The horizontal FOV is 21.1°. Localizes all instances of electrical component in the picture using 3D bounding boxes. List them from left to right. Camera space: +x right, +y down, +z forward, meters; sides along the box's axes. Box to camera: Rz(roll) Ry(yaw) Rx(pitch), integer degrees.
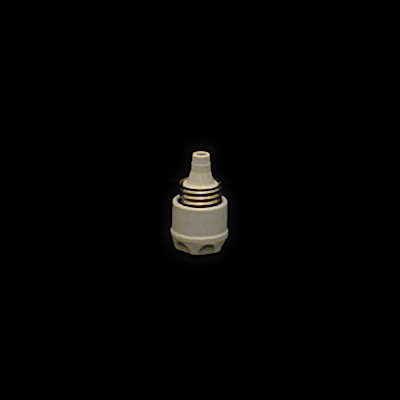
[{"bbox_3d":[0.000,0.000,0.651,0.035,0.062,0.034,2,21,0],"label":"electrical component"}]
